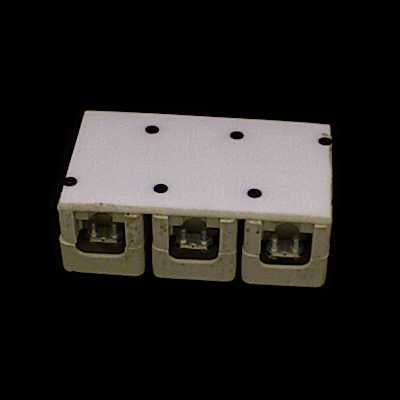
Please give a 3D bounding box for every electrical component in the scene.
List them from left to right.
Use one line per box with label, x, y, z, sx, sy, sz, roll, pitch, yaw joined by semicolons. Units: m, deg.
electrical component;0.000;0.000;0.635;0.150;0.063;0.088;4;41;4
